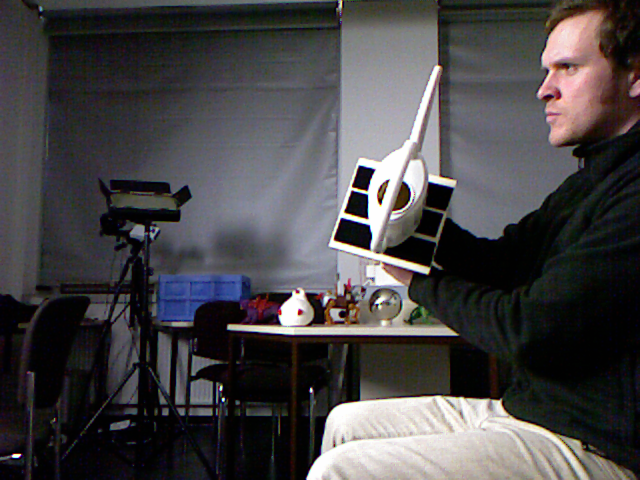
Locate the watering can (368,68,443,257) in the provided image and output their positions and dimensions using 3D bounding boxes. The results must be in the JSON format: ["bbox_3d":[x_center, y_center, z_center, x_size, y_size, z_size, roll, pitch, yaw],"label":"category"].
[{"bbox_3d":[0.163,-0.124,0.957,0.105,0.353,0.222,19,-13,12],"label":"watering can"}]
